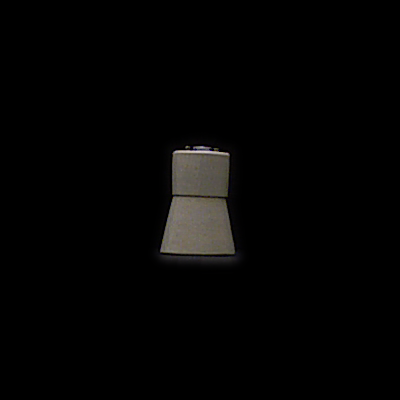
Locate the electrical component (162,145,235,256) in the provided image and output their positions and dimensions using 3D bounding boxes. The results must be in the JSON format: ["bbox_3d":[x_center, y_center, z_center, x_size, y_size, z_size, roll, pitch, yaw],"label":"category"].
[{"bbox_3d":[0.000,0.000,0.648,0.044,0.065,0.044,2,2,0],"label":"electrical component"}]
